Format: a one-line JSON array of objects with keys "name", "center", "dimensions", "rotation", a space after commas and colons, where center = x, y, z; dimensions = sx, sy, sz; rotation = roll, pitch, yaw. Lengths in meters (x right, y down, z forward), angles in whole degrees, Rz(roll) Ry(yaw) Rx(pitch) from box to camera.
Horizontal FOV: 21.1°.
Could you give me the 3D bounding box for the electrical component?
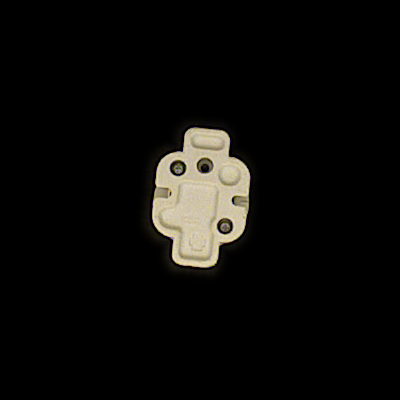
[{"name": "electrical component", "center": [0.000, 0.000, 0.637], "dimensions": [0.058, 0.078, 0.056], "rotation": [5, -4, 0]}]
